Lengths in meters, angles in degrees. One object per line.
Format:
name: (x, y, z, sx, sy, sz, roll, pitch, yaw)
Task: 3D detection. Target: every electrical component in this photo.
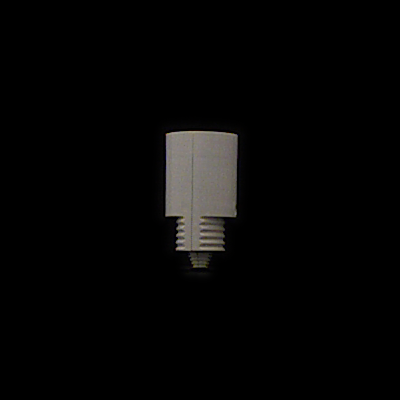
electrical component: (0.000, 0.000, 0.652, 0.043, 0.081, 0.043, 2, 1, 0)
